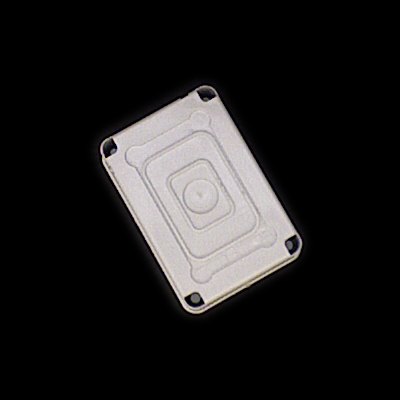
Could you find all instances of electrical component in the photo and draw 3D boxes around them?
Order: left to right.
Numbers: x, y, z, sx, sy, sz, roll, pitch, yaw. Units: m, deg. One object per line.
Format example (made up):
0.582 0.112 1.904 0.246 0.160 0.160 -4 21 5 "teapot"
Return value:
0.000 0.000 0.628 0.078 0.113 0.057 -29 -5 -3 "electrical component"
